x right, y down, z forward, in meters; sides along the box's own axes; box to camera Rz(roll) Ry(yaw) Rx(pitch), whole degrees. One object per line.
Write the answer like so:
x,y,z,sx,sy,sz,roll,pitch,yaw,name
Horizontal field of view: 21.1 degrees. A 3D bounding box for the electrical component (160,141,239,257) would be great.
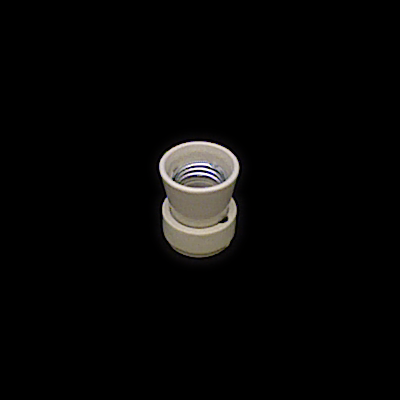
0.000,0.000,0.630,0.045,0.055,0.044,0,42,0,electrical component
